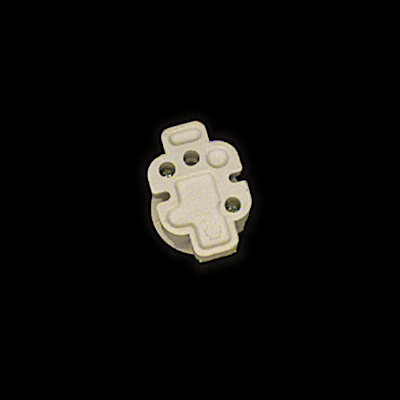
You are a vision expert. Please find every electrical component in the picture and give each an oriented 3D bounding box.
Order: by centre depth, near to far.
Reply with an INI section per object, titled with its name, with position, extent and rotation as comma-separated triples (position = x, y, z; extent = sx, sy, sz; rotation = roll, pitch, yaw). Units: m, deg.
[electrical component]
position = 0.000, 0.000, 0.635
extent = 0.058, 0.078, 0.056
rotation = -16, -14, -5
